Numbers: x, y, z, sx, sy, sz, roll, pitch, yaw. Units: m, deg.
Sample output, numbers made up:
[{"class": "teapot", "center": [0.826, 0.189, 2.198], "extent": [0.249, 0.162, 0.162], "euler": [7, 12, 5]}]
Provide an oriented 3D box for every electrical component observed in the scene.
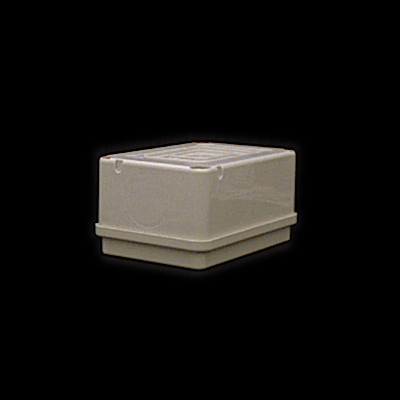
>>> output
[{"class": "electrical component", "center": [0.000, 0.000, 0.645], "extent": [0.078, 0.057, 0.113], "euler": [8, 12, 32]}]
